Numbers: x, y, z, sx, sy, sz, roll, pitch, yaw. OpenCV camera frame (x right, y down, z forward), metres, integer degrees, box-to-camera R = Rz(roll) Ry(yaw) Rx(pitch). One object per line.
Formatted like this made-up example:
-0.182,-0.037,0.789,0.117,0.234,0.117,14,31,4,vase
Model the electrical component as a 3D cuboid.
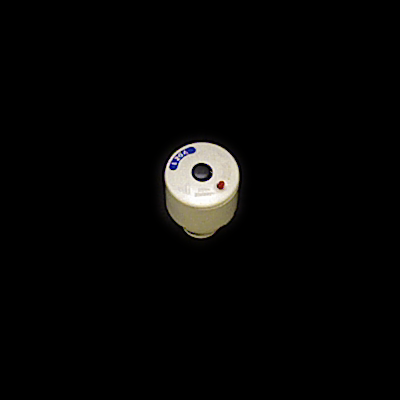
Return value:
0.000,0.000,0.617,0.040,0.040,0.078,0,-27,0,electrical component
